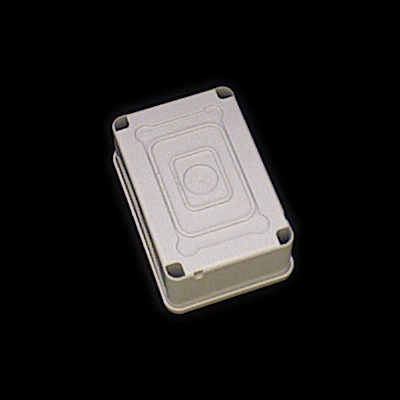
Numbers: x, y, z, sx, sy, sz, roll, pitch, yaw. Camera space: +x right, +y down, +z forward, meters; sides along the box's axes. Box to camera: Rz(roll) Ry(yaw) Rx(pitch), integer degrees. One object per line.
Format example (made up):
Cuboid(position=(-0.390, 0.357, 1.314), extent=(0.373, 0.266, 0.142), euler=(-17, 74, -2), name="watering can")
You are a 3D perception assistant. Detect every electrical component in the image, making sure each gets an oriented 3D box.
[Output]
Cuboid(position=(0.000, 0.000, 0.628), extent=(0.078, 0.113, 0.057), euler=(-17, -26, -8), name="electrical component")
